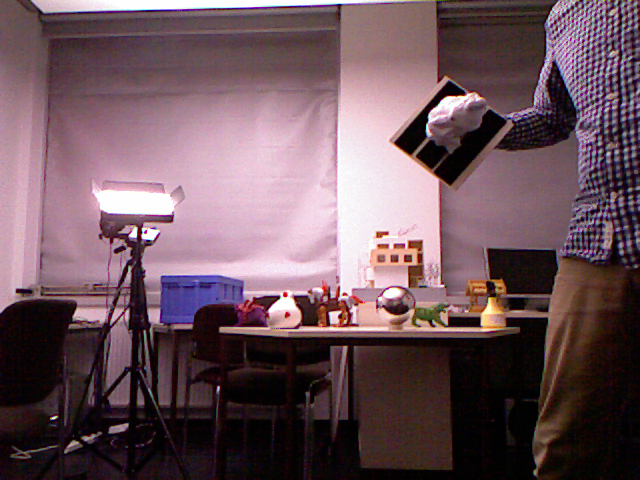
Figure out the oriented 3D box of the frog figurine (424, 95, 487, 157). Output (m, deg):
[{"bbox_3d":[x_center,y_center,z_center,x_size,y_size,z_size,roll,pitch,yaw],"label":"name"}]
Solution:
[{"bbox_3d":[0.302,-0.277,1.160,0.138,0.124,0.158,-33,-15,-1],"label":"frog figurine"}]
